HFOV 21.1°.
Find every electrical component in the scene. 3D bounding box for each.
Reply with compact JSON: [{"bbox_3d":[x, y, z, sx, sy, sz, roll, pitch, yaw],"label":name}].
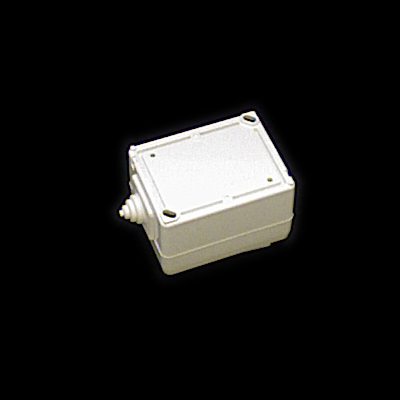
[{"bbox_3d":[0.000,0.000,0.625,0.096,0.061,0.061,-17,-35,-14],"label":"electrical component"}]
